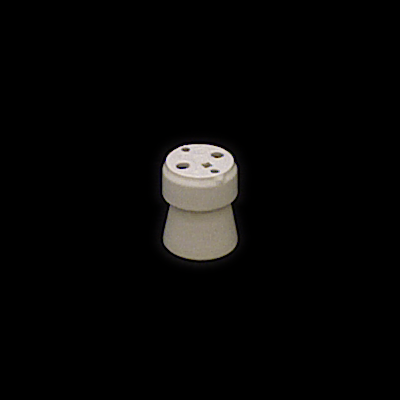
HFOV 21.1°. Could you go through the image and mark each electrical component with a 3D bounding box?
[{"bbox_3d":[0.000,0.000,0.634,0.045,0.056,0.044,0,32,0],"label":"electrical component"}]
